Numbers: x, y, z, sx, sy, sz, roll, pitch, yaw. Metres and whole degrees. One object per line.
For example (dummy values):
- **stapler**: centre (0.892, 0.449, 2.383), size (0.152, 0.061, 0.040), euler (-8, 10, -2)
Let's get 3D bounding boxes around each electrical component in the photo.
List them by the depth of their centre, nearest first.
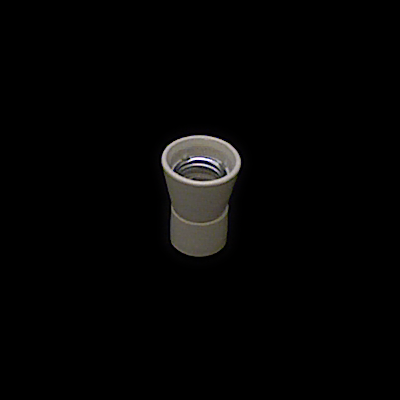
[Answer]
- **electrical component**: centre (0.000, 0.000, 0.630), size (0.044, 0.066, 0.044), euler (1, 41, -1)
